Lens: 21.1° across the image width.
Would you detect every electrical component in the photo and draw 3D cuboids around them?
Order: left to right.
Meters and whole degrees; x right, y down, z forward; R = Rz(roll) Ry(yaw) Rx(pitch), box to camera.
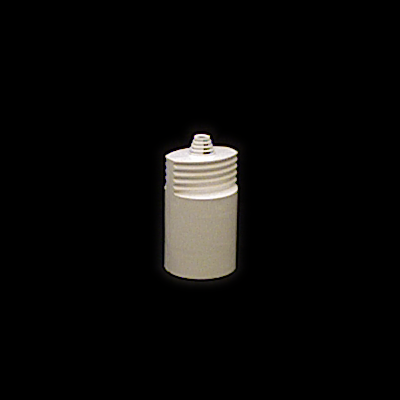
[{"bbox_3d":[0.000,0.000,0.635,0.043,0.082,0.042,1,21,0],"label":"electrical component"}]
